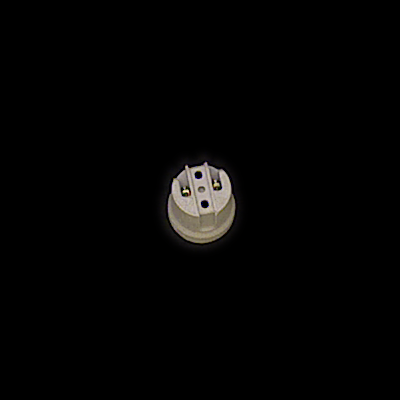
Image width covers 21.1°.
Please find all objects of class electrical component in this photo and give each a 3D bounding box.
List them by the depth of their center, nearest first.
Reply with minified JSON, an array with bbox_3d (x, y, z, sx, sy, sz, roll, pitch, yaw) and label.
[{"bbox_3d":[0.000,0.000,0.634,0.040,0.040,0.046,0,-16,0],"label":"electrical component"}]
